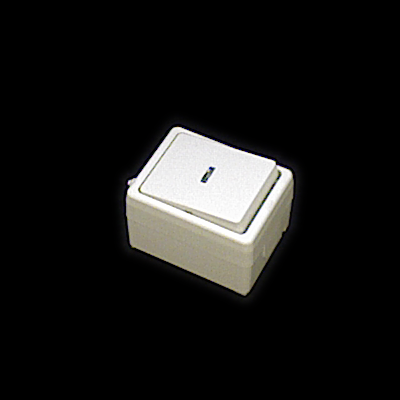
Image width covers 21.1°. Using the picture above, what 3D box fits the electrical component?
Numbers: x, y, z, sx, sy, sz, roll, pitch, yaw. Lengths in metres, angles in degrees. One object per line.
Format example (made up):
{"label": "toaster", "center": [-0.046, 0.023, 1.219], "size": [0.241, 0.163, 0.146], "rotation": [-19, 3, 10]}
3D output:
{"label": "electrical component", "center": [0.000, 0.000, 0.629], "size": [0.096, 0.062, 0.061], "rotation": [22, -35, 16]}
